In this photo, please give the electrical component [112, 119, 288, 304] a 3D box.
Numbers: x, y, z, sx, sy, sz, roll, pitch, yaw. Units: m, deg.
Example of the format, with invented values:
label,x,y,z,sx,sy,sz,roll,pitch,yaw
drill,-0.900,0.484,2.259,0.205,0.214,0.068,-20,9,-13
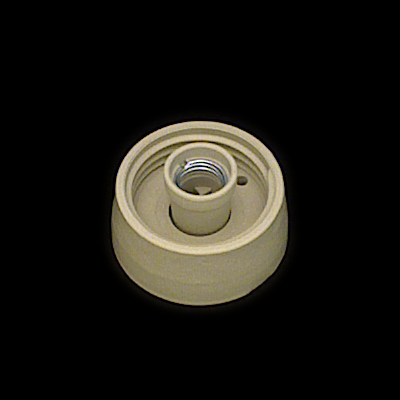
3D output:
label,x,y,z,sx,sy,sz,roll,pitch,yaw
electrical component,0.000,0.000,0.635,0.108,0.107,0.060,0,-37,-1
